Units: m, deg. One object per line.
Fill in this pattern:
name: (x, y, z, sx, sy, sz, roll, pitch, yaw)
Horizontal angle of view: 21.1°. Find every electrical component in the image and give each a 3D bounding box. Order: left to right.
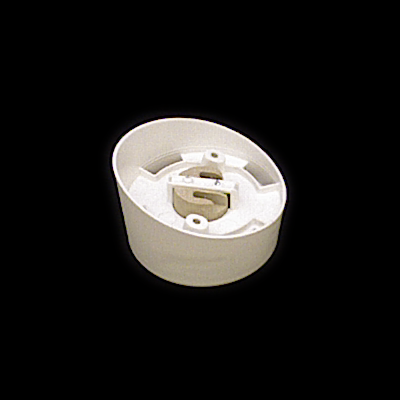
electrical component: (0.000, 0.000, 0.628, 0.099, 0.064, 0.098, 0, 42, 0)
